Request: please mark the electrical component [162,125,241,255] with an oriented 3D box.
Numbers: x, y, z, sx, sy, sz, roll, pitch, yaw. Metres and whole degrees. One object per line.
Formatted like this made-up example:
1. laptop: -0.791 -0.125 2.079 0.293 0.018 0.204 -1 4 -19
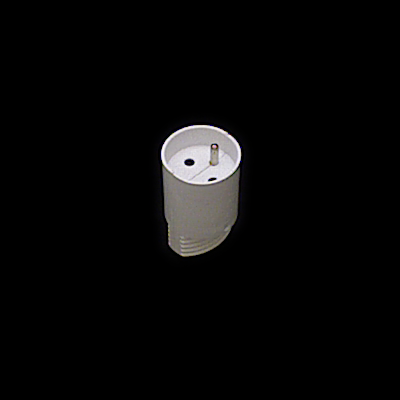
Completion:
1. electrical component: 0.000 0.000 0.620 0.043 0.043 0.081 0 -38 -1
